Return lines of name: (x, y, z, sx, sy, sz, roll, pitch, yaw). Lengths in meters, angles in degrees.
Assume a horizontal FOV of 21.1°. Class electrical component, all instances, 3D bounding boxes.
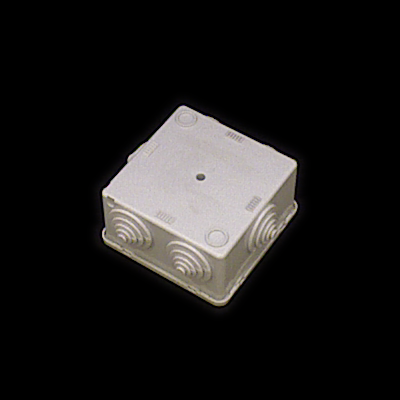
electrical component: (0.000, 0.000, 0.632, 0.099, 0.100, 0.049, 28, -33, 19)
